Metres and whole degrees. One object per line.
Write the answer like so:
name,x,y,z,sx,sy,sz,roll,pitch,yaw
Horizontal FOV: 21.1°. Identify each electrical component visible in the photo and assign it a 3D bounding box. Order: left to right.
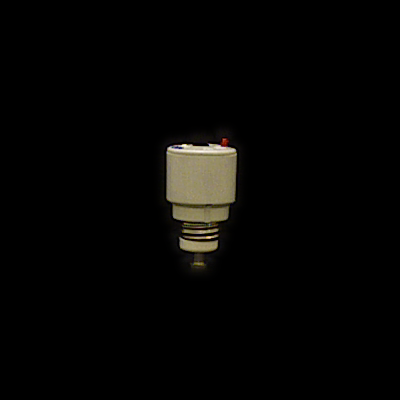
electrical component,0.000,0.000,0.642,0.040,0.079,0.040,2,11,0
